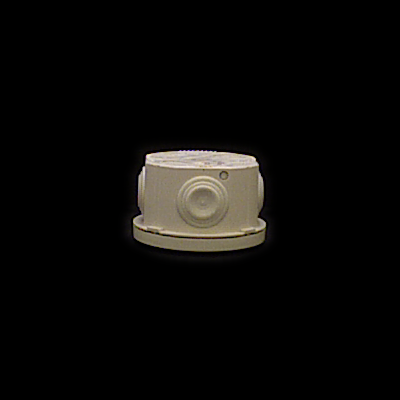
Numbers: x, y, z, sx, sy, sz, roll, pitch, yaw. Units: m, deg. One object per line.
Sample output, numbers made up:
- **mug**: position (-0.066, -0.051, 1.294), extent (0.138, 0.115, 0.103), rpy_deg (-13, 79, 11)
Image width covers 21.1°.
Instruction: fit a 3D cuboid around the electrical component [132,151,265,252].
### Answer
- **electrical component**: position (0.000, 0.000, 0.645), extent (0.080, 0.051, 0.079), rpy_deg (2, 11, 0)
